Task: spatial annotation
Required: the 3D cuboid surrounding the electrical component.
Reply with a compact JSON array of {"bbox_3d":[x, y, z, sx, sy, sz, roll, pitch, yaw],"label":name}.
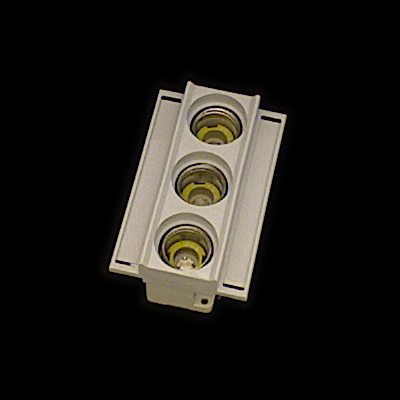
[{"bbox_3d":[0.000,0.000,0.638,0.078,0.121,0.063,12,-26,5],"label":"electrical component"}]
